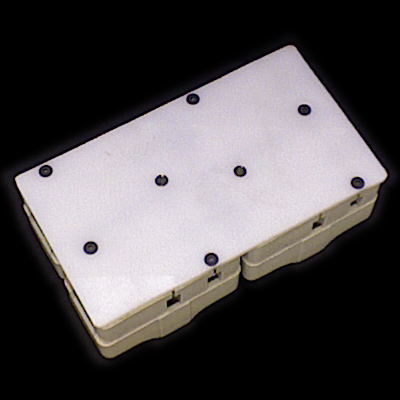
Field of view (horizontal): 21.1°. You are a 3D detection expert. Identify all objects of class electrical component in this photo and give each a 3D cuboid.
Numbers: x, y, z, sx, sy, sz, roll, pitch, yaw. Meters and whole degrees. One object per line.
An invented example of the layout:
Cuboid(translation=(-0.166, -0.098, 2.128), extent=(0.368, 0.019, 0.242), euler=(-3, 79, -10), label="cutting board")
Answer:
Cuboid(translation=(0.000, 0.000, 0.625), extent=(0.187, 0.105, 0.060), euler=(-27, -24, -13), label="electrical component")
